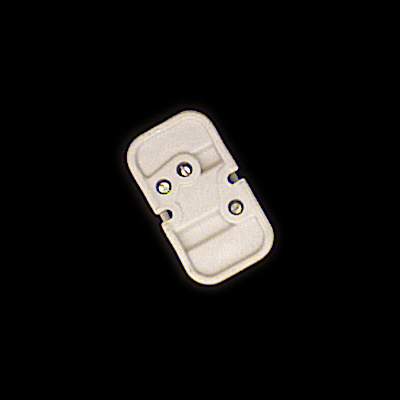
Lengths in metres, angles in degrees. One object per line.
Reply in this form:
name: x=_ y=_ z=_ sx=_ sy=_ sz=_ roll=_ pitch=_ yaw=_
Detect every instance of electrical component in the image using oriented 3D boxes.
electrical component: x=0.000 y=0.000 z=0.636 sx=0.054 sy=0.095 sz=0.059 roll=-29 pitch=-5 yaw=-2
